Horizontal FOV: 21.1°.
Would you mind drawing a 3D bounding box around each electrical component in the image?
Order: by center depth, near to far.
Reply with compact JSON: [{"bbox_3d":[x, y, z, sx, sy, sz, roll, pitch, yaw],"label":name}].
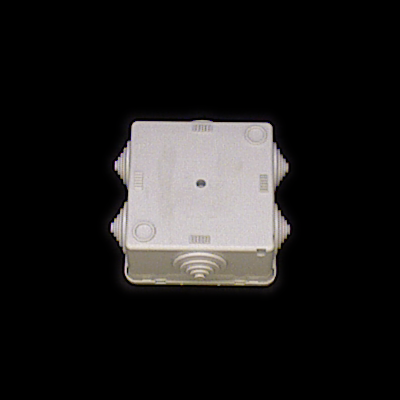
[{"bbox_3d":[0.000,0.000,0.631,0.100,0.100,0.048,1,-27,0],"label":"electrical component"}]
